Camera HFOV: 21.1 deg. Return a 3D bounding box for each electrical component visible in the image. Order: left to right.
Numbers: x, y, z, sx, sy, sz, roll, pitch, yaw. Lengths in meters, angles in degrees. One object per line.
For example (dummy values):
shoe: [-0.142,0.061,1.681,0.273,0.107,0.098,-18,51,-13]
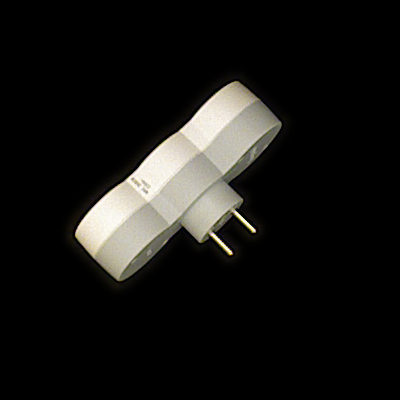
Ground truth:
electrical component: [0.000,0.000,0.637,0.139,0.073,0.052,-43,-10,-11]
